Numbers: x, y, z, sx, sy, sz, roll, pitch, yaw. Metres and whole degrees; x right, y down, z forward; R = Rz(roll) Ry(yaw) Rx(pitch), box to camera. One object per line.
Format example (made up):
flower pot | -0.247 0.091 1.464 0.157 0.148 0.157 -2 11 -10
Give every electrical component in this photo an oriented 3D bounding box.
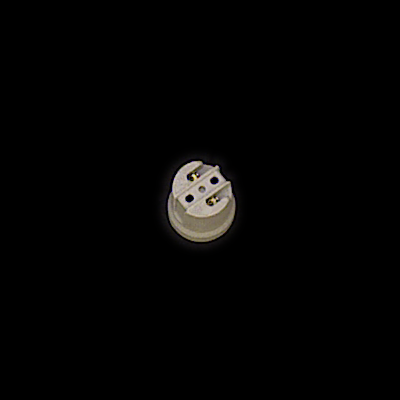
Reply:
electrical component | 0.000 0.000 0.633 0.040 0.040 0.046 0 -16 0
